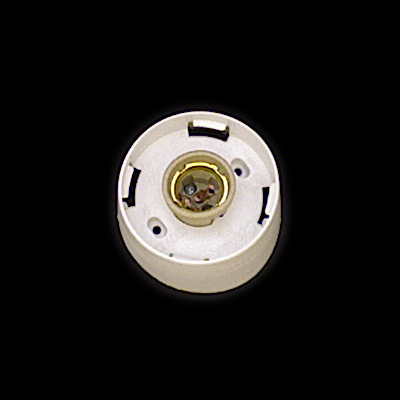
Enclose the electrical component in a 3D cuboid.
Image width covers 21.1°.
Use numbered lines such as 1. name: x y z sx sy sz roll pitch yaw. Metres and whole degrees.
1. electrical component: 0.000 0.000 0.624 0.099 0.099 0.064 0 -16 -1
